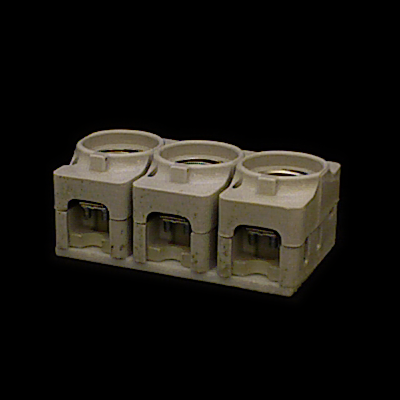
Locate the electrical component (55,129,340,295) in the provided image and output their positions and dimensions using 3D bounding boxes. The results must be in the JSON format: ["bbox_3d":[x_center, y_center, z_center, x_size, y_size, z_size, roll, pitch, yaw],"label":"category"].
[{"bbox_3d":[0.000,0.000,0.643,0.149,0.063,0.088,8,22,20],"label":"electrical component"}]
